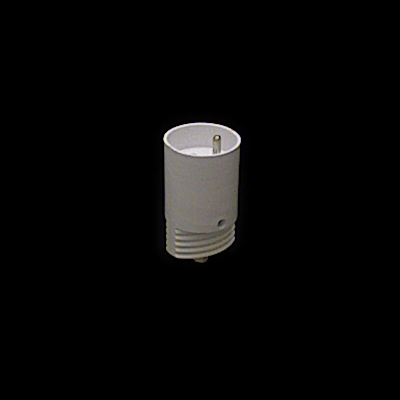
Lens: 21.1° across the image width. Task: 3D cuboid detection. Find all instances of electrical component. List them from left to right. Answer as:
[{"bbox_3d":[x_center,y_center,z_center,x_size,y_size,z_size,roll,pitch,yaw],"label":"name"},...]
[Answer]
[{"bbox_3d":[0.000,0.000,0.630,0.043,0.082,0.042,1,31,-1],"label":"electrical component"}]
